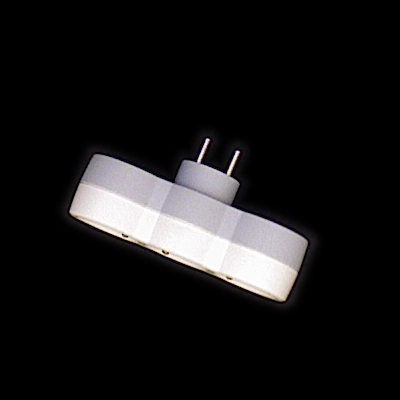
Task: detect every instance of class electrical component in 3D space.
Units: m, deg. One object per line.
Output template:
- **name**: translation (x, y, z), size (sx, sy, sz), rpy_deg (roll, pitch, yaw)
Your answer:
- **electrical component**: translation (0.000, 0.000, 0.632), size (0.138, 0.074, 0.052), rpy_deg (22, -8, 3)
